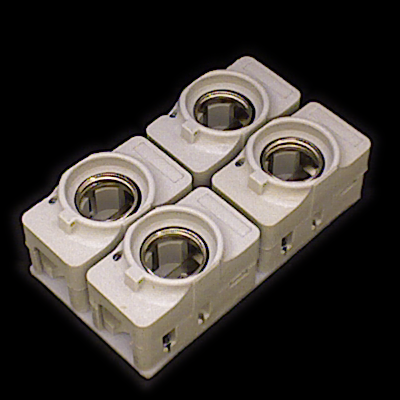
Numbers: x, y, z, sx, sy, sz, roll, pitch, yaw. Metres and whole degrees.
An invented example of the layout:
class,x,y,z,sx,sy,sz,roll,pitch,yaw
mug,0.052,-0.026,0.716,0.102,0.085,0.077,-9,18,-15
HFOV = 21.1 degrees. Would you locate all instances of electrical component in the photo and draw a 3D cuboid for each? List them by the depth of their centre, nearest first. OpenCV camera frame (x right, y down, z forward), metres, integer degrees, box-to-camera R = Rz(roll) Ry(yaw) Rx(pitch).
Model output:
class,x,y,z,sx,sy,sz,roll,pitch,yaw
electrical component,0.000,0.000,0.626,0.186,0.060,0.105,-38,62,-25
